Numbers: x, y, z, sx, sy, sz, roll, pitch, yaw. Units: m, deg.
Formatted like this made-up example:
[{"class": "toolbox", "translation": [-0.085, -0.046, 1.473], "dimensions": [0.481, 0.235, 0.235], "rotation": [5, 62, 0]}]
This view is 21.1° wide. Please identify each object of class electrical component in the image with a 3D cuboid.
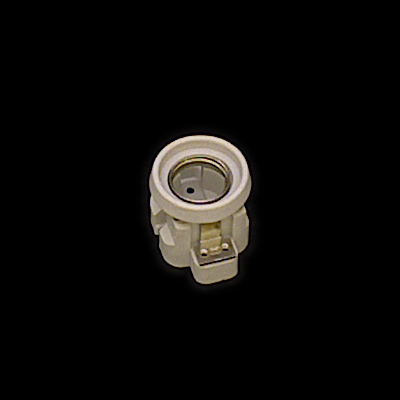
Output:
[{"class": "electrical component", "translation": [0.000, 0.000, 0.628], "dimensions": [0.058, 0.078, 0.057], "rotation": [-14, -36, -11]}]
